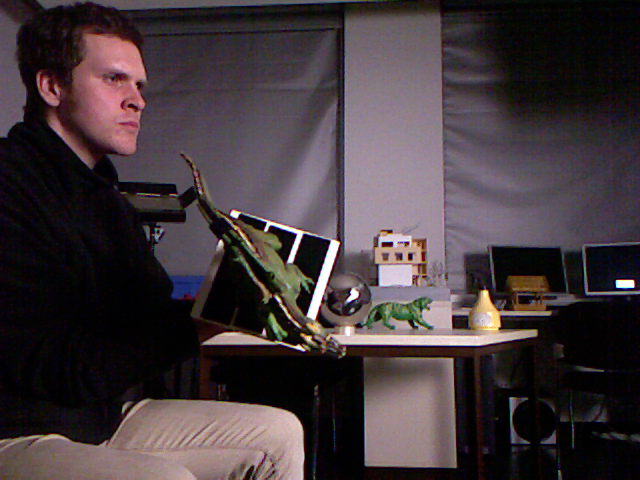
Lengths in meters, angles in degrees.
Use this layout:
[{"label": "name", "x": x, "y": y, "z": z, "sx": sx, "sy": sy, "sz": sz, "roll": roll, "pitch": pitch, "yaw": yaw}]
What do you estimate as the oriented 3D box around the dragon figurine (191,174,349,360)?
[{"label": "dragon figurine", "x": -0.105, "y": 0.021, "z": 0.769, "sx": 0.123, "sy": 0.415, "sz": 0.240, "roll": -39, "pitch": -12, "yaw": -10}]
